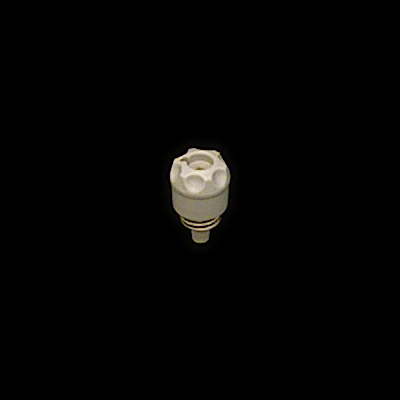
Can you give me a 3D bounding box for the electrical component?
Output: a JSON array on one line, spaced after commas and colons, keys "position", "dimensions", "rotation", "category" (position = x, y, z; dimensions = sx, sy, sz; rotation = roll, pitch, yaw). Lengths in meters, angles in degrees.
[{"position": [0.000, 0.000, 0.639], "dimensions": [0.035, 0.062, 0.035], "rotation": [0, 42, 0], "category": "electrical component"}]
